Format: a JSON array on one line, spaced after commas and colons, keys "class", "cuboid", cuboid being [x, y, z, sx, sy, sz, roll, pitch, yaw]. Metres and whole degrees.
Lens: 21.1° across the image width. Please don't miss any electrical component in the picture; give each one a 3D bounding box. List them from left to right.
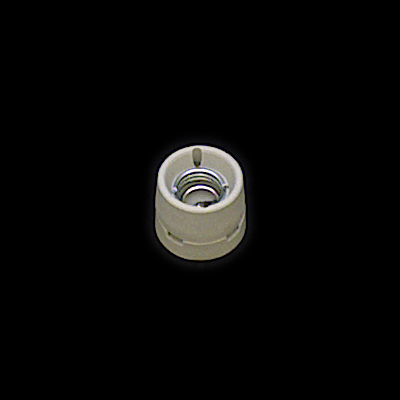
[{"class": "electrical component", "cuboid": [0.000, 0.000, 0.633, 0.055, 0.055, 0.047, 0, -36, 0]}]
